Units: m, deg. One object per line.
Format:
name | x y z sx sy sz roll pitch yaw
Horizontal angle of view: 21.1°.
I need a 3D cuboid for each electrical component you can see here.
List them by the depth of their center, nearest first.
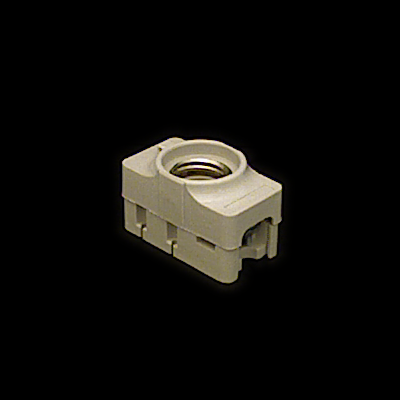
electrical component | 0.000 0.000 0.643 0.088 0.056 0.050 26 40 34
